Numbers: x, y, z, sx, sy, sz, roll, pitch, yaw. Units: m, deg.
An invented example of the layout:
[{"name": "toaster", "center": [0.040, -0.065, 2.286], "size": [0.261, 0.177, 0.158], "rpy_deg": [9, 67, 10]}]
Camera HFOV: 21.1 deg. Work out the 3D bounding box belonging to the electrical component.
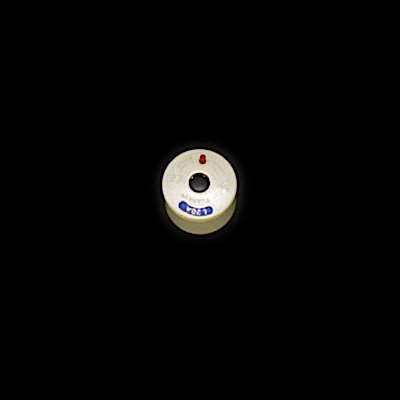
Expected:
[{"name": "electrical component", "center": [0.000, 0.000, 0.618], "size": [0.040, 0.040, 0.078], "rpy_deg": [0, -18, 0]}]
